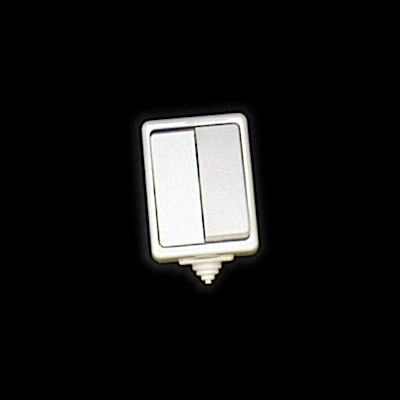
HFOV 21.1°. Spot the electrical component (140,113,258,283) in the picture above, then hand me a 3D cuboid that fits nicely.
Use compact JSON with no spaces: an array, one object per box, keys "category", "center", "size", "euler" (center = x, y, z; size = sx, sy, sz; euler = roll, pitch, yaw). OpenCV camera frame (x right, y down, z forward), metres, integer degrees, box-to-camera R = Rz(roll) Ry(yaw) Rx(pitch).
[{"category":"electrical component","center":[0.000,0.000,0.626],"size":[0.062,0.096,0.061],"euler":[-5,-7,0]}]
